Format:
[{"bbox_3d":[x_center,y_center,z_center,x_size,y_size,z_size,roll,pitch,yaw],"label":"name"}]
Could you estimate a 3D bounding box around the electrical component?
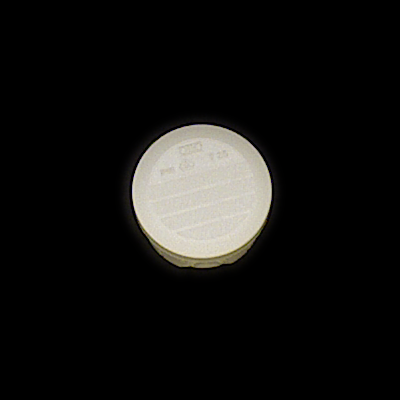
[{"bbox_3d":[0.000,0.000,0.630,0.080,0.080,0.050,0,-17,0],"label":"electrical component"}]
